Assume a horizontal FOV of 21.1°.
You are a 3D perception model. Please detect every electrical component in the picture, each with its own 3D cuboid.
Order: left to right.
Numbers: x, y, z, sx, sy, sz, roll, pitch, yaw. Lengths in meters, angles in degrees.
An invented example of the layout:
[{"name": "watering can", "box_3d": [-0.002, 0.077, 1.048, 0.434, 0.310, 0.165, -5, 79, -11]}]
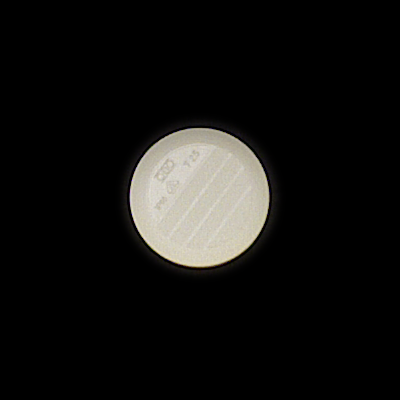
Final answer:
[{"name": "electrical component", "box_3d": [0.000, 0.000, 0.631, 0.080, 0.080, 0.050, 0, -7, 0]}]
